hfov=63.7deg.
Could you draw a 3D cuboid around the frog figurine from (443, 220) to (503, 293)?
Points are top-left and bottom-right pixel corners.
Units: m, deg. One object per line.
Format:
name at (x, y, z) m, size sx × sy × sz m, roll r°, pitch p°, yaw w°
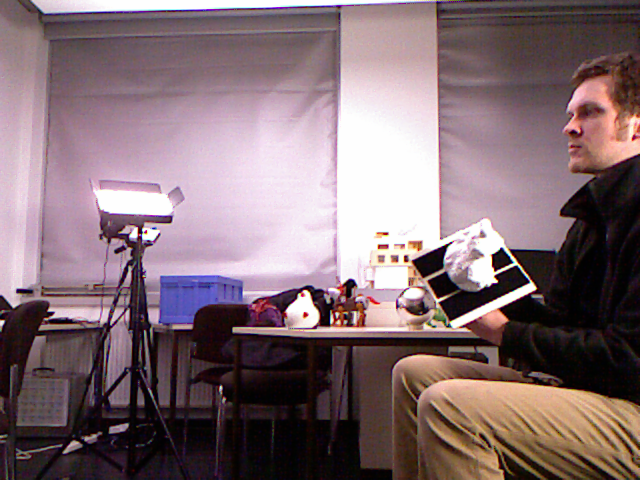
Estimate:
frog figurine at (0.331, 0.035, 1.115) m, size 0.123 × 0.141 × 0.156 m, roll -8°, pitch -29°, yaw 5°
